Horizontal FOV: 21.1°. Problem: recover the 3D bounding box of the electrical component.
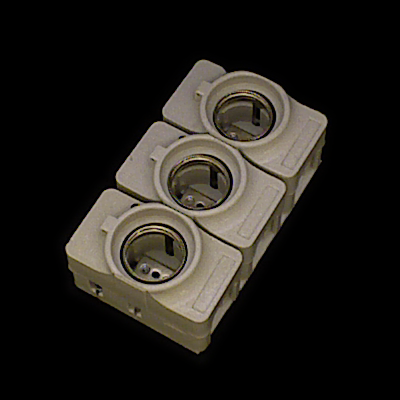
[{"bbox_3d":[0.000,0.000,0.631,0.089,0.149,0.062,27,-24,14],"label":"electrical component"}]
